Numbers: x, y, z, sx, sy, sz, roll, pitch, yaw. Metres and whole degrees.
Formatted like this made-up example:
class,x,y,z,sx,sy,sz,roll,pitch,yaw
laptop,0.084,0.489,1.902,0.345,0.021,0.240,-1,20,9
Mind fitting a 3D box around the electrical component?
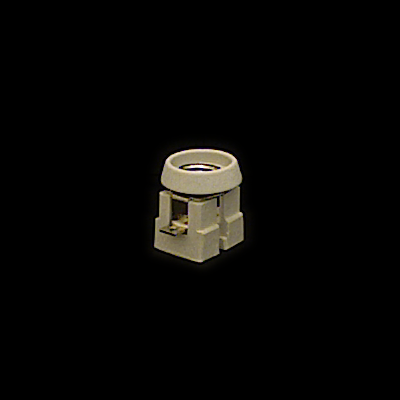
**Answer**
class,x,y,z,sx,sy,sz,roll,pitch,yaw
electrical component,0.000,0.000,0.645,0.048,0.056,0.066,14,25,33
